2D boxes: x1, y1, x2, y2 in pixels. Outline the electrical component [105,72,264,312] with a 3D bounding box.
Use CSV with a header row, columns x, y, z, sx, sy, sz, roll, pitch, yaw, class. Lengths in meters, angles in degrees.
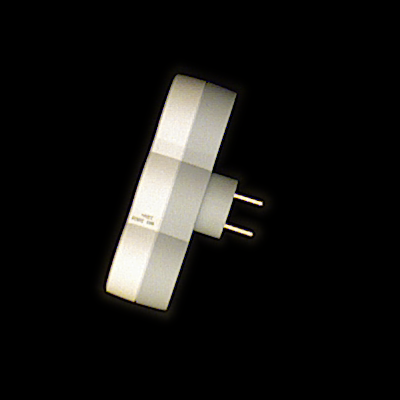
x,y,z,sx,sy,sz,roll,pitch,yaw,class
0.000,0.000,0.639,0.074,0.138,0.052,18,-6,0,electrical component
